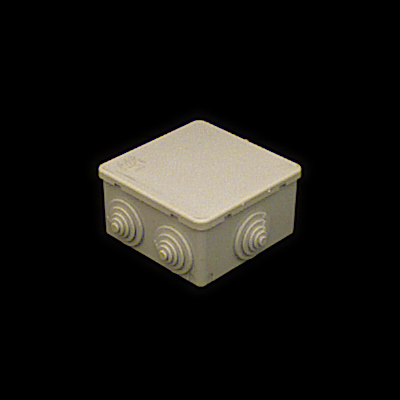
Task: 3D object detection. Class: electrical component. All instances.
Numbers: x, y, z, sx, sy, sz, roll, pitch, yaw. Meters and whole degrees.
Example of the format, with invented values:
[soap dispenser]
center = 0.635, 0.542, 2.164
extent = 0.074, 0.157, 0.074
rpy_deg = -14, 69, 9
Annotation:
[electrical component]
center = 0.000, 0.000, 0.644
extent = 0.098, 0.049, 0.100
rpy_deg = 28, 41, 36
